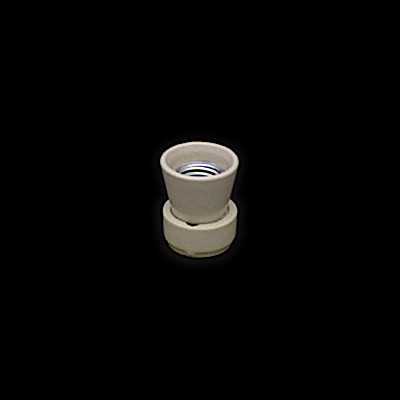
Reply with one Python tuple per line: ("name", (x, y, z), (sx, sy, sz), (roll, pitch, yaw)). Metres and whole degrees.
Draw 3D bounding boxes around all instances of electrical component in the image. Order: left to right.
("electrical component", (0.000, 0.000, 0.634), (0.045, 0.056, 0.044), (0, 31, 0))
